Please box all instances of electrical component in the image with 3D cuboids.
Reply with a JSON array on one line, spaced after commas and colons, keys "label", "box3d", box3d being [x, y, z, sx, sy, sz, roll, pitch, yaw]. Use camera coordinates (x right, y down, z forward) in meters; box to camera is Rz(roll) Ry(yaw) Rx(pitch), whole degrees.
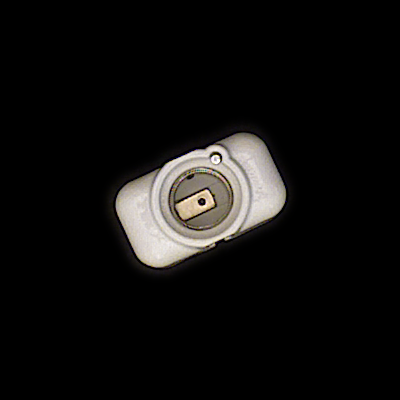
[{"label": "electrical component", "box3d": [0.000, 0.000, 0.635, 0.095, 0.054, 0.059, -25, -5, -2]}]
